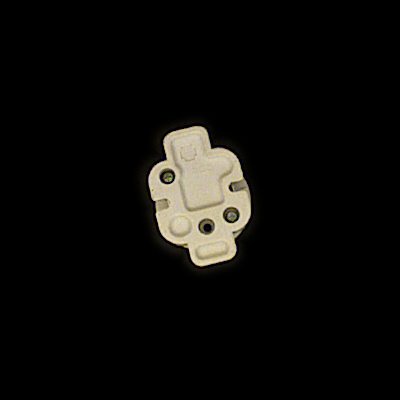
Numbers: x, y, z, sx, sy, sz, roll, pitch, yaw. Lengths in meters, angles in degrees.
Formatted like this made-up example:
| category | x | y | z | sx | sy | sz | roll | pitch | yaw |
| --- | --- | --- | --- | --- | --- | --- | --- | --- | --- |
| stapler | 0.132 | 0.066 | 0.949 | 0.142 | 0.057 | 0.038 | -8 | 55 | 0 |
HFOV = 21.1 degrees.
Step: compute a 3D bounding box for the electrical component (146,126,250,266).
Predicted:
| category | x | y | z | sx | sy | sz | roll | pitch | yaw |
| --- | --- | --- | --- | --- | --- | --- | --- | --- | --- |
| electrical component | 0.000 | 0.000 | 0.637 | 0.058 | 0.078 | 0.056 | -15 | -7 | 0 |
